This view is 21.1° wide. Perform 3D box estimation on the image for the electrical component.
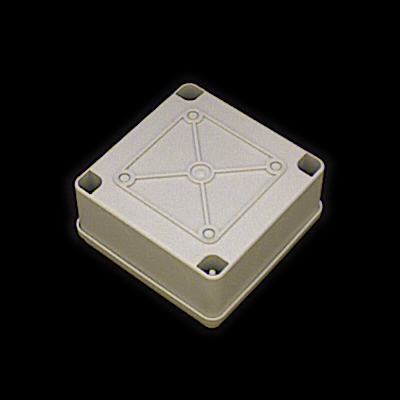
[{"bbox_3d":[0.000,0.000,0.628,0.108,0.109,0.056,33,-30,22],"label":"electrical component"}]
